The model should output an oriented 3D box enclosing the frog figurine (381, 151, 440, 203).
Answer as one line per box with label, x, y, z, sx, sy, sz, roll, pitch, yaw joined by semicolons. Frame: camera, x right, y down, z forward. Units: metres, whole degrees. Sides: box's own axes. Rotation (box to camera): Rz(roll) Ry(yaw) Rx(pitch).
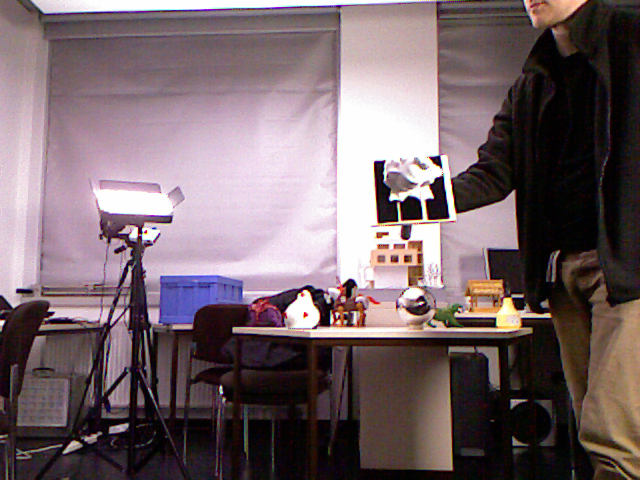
frog figurine;0.216;-0.170;1.228;0.138;0.125;0.156;13;-31;12
